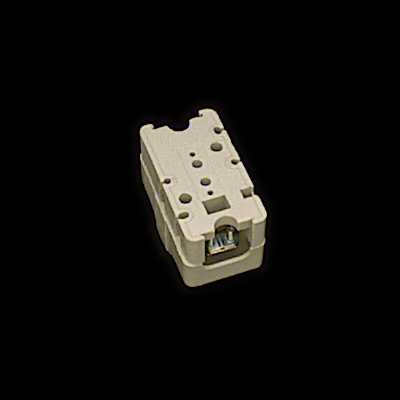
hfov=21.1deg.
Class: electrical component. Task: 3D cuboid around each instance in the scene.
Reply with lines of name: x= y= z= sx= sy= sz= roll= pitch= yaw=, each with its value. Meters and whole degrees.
electrical component: x=0.000 y=0.000 z=0.637 sx=0.050 sy=0.089 sz=0.056 roll=-16 pitch=-35 yaw=-12
